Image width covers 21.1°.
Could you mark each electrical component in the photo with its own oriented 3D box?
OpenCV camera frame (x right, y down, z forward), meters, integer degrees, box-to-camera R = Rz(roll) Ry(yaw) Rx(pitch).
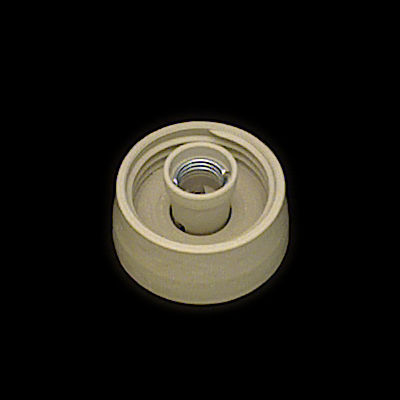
[{"bbox_3d":[0.000,0.000,0.636,0.108,0.107,0.060,0,-37,0],"label":"electrical component"}]
